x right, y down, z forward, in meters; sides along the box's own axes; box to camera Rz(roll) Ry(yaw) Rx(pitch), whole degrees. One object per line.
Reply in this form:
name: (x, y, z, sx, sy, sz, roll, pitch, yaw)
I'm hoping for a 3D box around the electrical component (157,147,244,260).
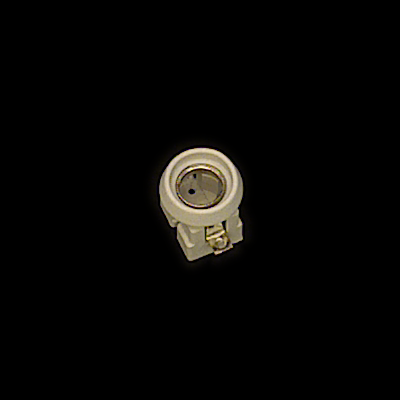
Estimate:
electrical component: (0.000, 0.000, 0.637, 0.048, 0.066, 0.055, -25, -24, -9)
